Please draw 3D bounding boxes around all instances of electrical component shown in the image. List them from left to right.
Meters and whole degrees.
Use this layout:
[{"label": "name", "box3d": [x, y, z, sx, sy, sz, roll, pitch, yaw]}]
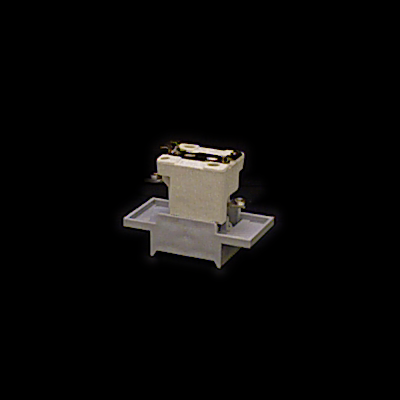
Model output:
[{"label": "electrical component", "box3d": [0.000, 0.000, 0.639, 0.080, 0.064, 0.042, 9, 23, 20]}]
